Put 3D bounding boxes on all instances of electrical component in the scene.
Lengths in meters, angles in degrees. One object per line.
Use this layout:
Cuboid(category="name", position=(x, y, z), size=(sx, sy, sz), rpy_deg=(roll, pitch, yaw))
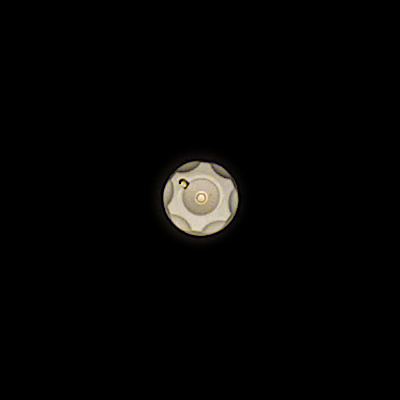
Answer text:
Cuboid(category="electrical component", position=(0.000, 0.000, 0.635), size=(0.043, 0.043, 0.062), rpy_deg=(0, -5, 0))
